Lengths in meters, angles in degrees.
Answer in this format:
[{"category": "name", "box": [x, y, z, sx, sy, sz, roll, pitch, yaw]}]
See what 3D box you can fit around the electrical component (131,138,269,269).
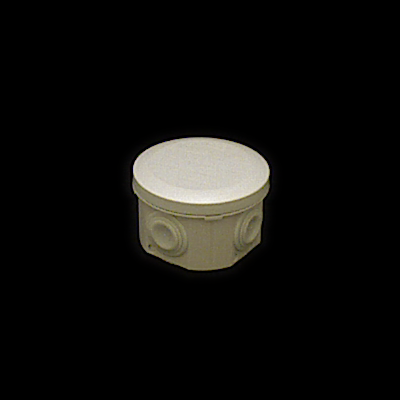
[{"category": "electrical component", "box": [0.000, 0.000, 0.636, 0.080, 0.051, 0.079, 1, 31, 0]}]
